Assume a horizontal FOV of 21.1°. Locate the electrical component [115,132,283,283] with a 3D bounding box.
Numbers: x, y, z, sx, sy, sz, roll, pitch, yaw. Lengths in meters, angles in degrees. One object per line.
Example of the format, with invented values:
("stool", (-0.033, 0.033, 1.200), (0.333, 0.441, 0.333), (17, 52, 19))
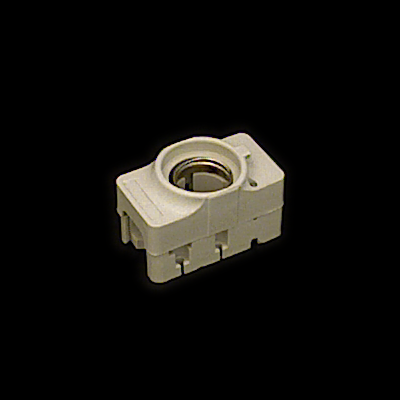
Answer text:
("electrical component", (0.000, 0.000, 0.639), (0.090, 0.056, 0.049), (-21, 47, -22))
